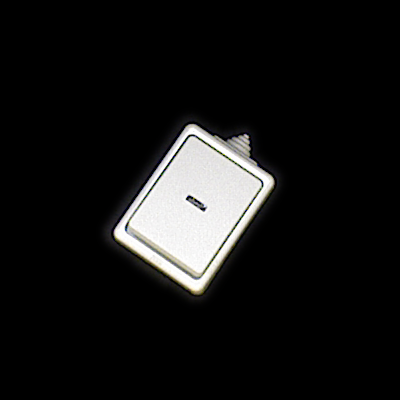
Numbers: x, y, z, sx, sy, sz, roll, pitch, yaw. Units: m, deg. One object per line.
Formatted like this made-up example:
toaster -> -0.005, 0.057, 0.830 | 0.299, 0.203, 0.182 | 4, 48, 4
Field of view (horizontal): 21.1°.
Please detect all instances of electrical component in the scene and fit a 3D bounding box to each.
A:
electrical component -> 0.000, 0.000, 0.626 | 0.062, 0.096, 0.061 | 34, -6, 4
